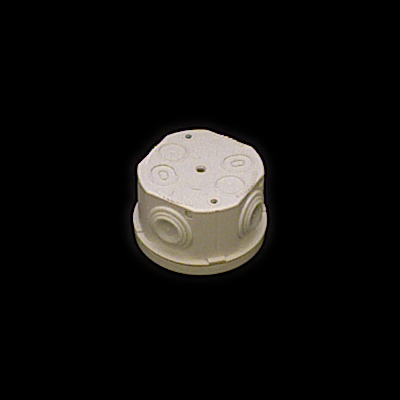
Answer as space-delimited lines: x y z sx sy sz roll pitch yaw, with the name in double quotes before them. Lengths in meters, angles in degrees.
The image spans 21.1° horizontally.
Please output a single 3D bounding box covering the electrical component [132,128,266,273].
"electrical component" 0.000 0.000 0.633 0.080 0.051 0.080 1 43 0
